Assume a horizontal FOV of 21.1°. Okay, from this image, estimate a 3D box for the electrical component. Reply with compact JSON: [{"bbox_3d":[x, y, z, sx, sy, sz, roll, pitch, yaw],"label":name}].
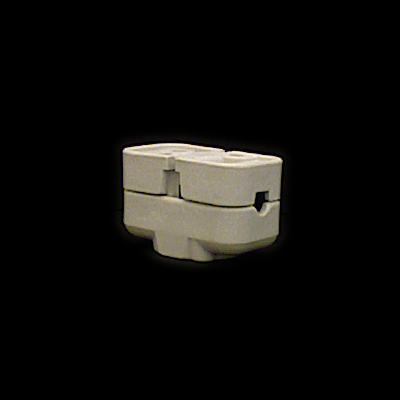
[{"bbox_3d":[0.000,0.000,0.649,0.094,0.060,0.054,11,15,39],"label":"electrical component"}]
